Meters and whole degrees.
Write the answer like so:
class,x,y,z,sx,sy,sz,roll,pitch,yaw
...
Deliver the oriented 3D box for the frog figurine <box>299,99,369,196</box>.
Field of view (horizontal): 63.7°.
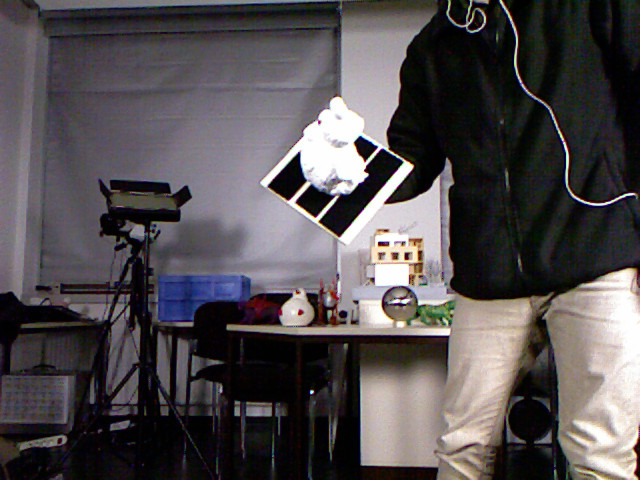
class,x,y,z,sx,sy,sz,roll,pitch,yaw
frog figurine,0.025,-0.156,0.887,0.123,0.139,0.157,-28,-20,-11
